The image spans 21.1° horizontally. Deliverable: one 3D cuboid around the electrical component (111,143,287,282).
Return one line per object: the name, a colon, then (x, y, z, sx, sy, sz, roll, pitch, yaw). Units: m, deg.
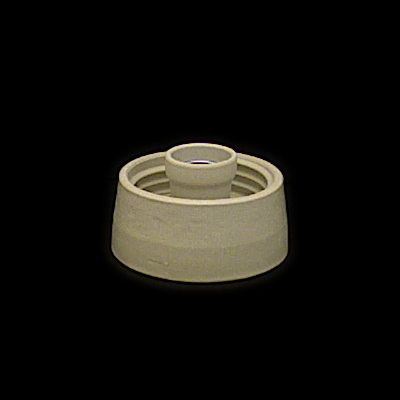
electrical component: (0.000, 0.000, 0.647, 0.108, 0.061, 0.106, 1, 21, 0)
